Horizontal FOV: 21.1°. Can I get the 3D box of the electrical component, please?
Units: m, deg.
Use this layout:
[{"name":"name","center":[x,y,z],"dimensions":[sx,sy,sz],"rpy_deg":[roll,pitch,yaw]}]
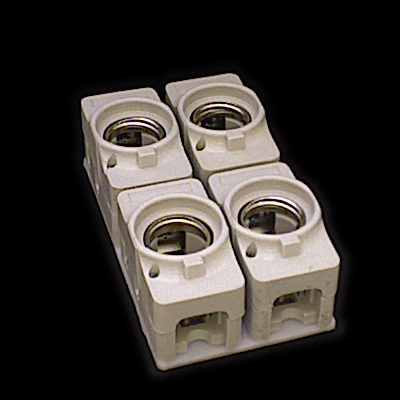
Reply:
[{"name":"electrical component","center":[0.000,0.000,0.630],"dimensions":[0.105,0.061,0.184],"rpy_deg":[-11,44,-13]}]
